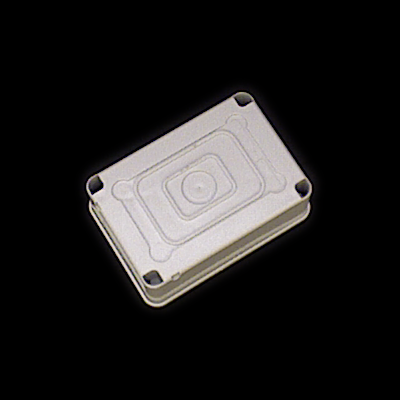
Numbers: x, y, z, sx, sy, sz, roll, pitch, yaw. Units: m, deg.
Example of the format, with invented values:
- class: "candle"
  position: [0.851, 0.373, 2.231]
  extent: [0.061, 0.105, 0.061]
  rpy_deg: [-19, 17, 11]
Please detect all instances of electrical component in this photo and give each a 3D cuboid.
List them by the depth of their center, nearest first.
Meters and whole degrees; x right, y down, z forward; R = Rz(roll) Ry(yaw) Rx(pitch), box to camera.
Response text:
- class: "electrical component"
  position: [0.000, 0.000, 0.628]
  extent: [0.113, 0.078, 0.057]
  rpy_deg: [-30, -14, -9]
